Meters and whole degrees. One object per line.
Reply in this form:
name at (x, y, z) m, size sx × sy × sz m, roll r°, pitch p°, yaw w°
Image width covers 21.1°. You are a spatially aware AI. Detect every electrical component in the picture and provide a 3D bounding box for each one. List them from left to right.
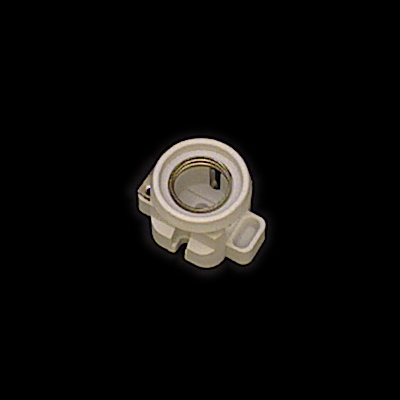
electrical component at (0.000, 0.000, 0.628) m, size 0.078 × 0.058 × 0.057 m, roll 27°, pitch -24°, yaw 13°
